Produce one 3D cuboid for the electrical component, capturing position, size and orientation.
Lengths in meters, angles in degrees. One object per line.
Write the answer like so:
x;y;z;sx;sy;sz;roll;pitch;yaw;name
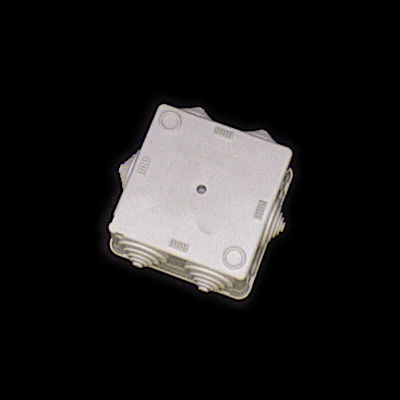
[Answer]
0.000;0.000;0.631;0.099;0.100;0.048;20;-16;6;electrical component
